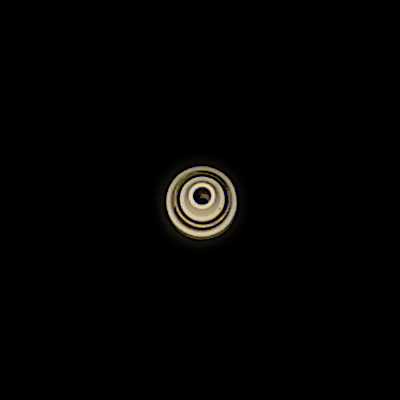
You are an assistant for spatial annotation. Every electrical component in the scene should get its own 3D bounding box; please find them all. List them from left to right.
[{"bbox_3d":[0.000,0.000,0.635,0.043,0.043,0.062,0,-6,0],"label":"electrical component"}]
